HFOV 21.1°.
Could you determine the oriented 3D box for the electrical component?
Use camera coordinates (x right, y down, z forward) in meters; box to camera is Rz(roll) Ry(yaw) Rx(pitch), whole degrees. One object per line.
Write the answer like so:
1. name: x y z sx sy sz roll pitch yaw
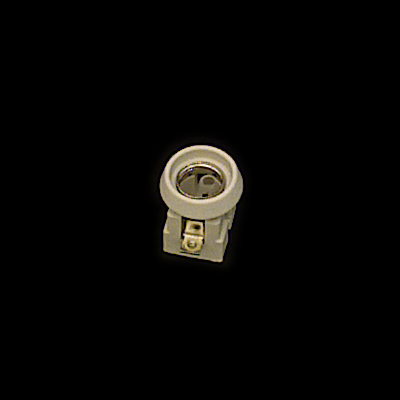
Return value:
1. electrical component: 0.000 0.000 0.637 0.048 0.066 0.056 8 -37 8
